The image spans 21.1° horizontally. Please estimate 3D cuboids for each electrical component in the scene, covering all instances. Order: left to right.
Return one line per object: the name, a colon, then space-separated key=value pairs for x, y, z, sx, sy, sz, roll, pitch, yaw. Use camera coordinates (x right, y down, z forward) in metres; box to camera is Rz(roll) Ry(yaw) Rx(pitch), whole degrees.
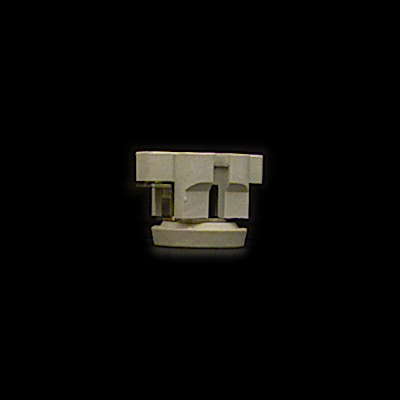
electrical component: x=0.000 y=0.000 z=0.654 sx=0.079 sy=0.057 sz=0.057 roll=-1 pitch=3 yaw=-30
